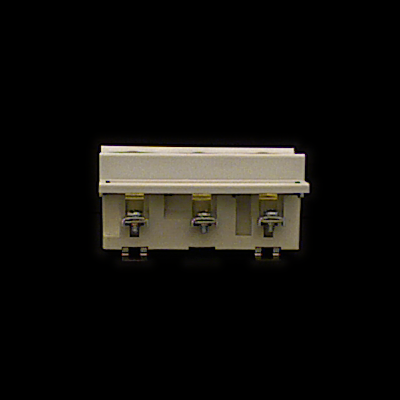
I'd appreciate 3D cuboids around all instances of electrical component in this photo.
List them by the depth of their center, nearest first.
[{"bbox_3d":[0.000,0.000,0.658,0.121,0.063,0.078,0,10,-4],"label":"electrical component"}]
